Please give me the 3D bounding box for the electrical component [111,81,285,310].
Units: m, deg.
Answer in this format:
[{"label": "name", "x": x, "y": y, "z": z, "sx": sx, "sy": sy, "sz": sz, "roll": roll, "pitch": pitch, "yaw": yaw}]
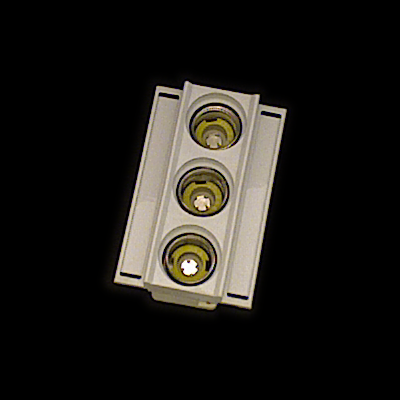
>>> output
[{"label": "electrical component", "x": 0.000, "y": 0.000, "z": 0.637, "sx": 0.079, "sy": 0.121, "sz": 0.063, "roll": 11, "pitch": -16, "yaw": 2}]
